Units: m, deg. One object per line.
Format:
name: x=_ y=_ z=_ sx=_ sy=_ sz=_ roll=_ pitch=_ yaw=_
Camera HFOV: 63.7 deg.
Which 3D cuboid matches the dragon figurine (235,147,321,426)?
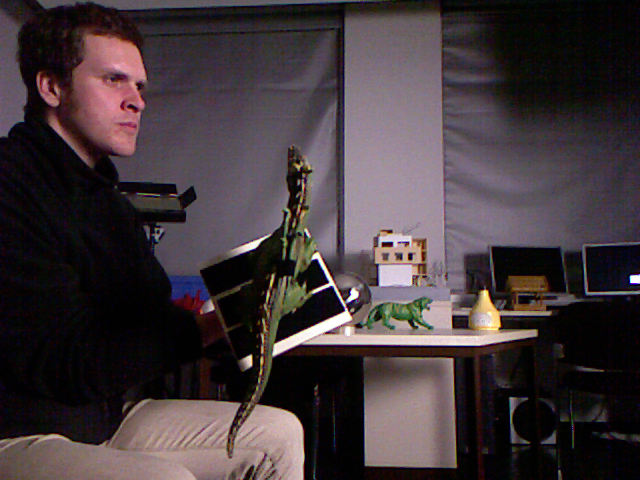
dragon figurine: x=-0.067 y=0.059 z=0.756 sx=0.122 sy=0.419 sz=0.240 roll=10 pitch=-20 yaw=-1
